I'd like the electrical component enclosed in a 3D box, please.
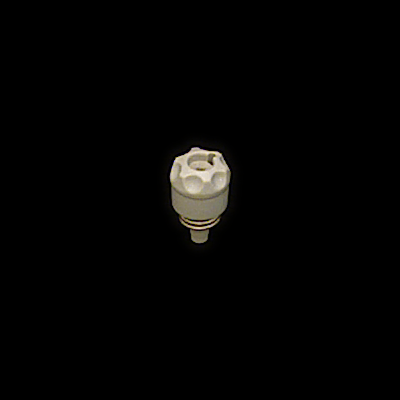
[{"bbox_3d":[0.000,0.000,0.638,0.035,0.062,0.035,1,43,0],"label":"electrical component"}]
